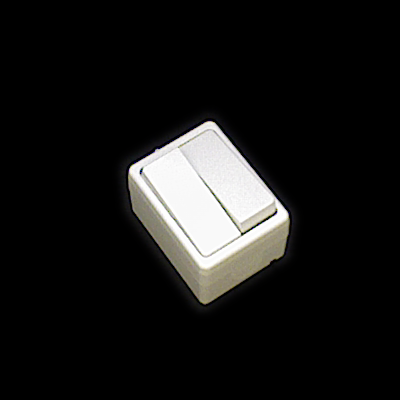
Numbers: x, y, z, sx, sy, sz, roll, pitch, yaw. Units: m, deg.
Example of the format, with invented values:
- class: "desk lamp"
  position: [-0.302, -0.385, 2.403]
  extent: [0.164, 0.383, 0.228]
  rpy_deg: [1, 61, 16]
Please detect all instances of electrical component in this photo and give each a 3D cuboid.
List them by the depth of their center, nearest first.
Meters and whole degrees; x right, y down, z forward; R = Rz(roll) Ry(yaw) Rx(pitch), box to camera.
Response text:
- class: "electrical component"
  position: [0.000, 0.000, 0.627]
  extent: [0.062, 0.096, 0.061]
  rpy_deg: [-31, -23, -15]
